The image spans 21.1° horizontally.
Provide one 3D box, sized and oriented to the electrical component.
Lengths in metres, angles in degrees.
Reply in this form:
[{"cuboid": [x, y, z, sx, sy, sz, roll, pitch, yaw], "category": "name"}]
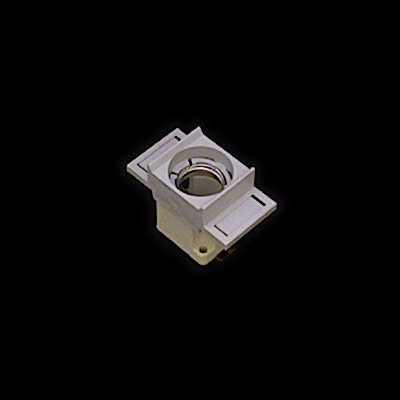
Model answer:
[{"cuboid": [0.000, 0.000, 0.627, 0.042, 0.064, 0.080, -39, 62, -25], "category": "electrical component"}]
